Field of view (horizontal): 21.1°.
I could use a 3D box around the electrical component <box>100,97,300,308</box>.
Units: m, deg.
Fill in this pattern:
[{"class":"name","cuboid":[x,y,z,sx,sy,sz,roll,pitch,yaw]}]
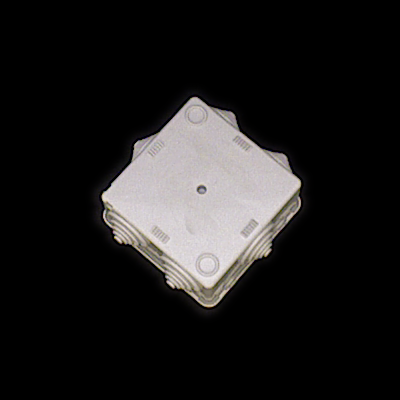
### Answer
[{"class":"electrical component","cuboid":[0.000,0.000,0.631,0.099,0.100,0.048,40,-13,11]}]
